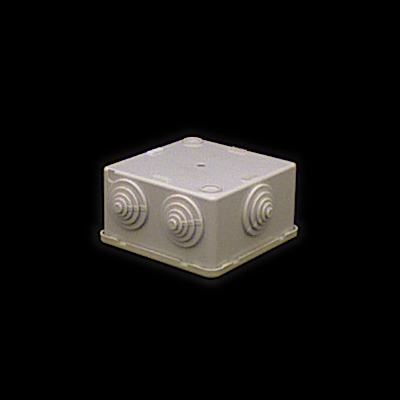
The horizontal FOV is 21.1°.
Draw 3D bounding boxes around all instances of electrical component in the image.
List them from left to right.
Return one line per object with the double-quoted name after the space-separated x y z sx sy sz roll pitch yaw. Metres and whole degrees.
0.000 0.000 0.641 0.099 0.049 0.099 17 26 35 "electrical component"
